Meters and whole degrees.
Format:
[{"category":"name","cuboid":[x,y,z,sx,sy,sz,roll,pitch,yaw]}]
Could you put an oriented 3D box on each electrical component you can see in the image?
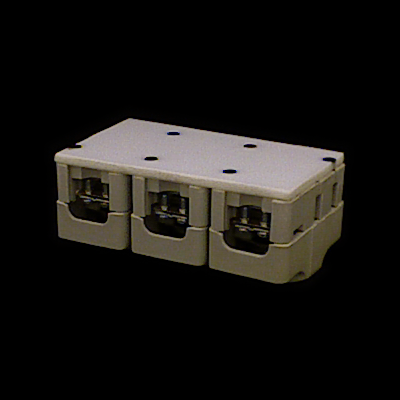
[{"category":"electrical component","cuboid":[0.000,0.000,0.646,0.149,0.063,0.088,11,23,24]}]
